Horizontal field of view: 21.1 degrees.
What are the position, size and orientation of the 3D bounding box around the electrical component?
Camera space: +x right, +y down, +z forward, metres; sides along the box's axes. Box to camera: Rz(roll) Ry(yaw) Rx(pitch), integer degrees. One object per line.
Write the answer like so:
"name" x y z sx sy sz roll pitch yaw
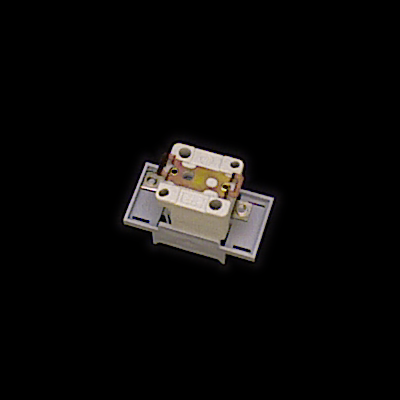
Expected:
"electrical component" 0.000 0.000 0.626 0.081 0.042 0.063 15 -26 8
